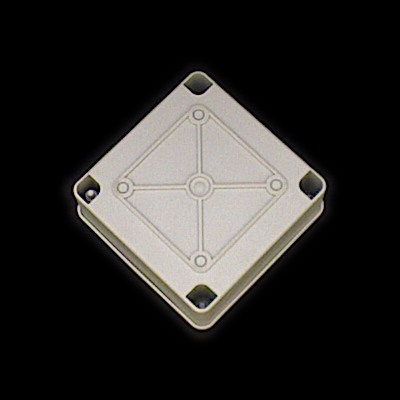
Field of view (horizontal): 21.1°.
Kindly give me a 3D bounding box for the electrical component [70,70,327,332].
[{"bbox_3d":[0.000,0.000,0.627,0.109,0.109,0.056,43,-12,12],"label":"electrical component"}]
